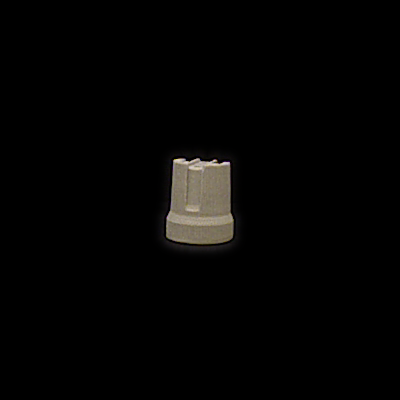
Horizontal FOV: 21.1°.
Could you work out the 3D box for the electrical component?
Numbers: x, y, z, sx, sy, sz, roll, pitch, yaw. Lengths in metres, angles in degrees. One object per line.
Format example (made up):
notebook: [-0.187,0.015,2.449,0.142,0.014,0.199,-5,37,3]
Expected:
electrical component: [0.000,0.000,0.646,0.040,0.046,0.040,2,12,0]
